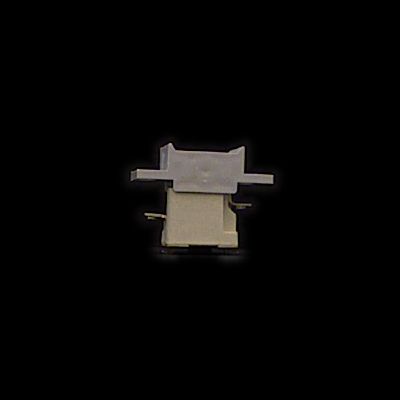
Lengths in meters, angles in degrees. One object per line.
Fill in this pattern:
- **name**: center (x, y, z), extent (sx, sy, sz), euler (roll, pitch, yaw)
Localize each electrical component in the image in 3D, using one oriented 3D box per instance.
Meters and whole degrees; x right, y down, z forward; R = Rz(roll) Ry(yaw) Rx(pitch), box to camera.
- **electrical component**: center (0.000, 0.000, 0.649), extent (0.081, 0.064, 0.042), euler (2, 2, -9)
